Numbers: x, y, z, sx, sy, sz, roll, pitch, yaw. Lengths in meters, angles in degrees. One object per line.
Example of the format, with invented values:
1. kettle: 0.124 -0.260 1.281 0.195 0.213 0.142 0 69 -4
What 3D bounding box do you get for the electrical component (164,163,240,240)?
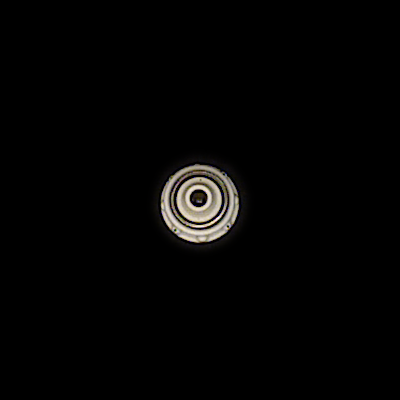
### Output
1. electrical component: 0.000 0.000 0.635 0.048 0.048 0.062 0 -4 0
